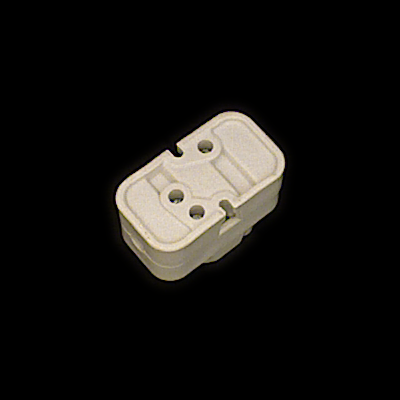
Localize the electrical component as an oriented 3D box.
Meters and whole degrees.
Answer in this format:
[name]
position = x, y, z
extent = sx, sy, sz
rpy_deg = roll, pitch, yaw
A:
[electrical component]
position = 0.000, 0.000, 0.634
extent = 0.095, 0.053, 0.059
rpy_deg = -36, -21, -17
